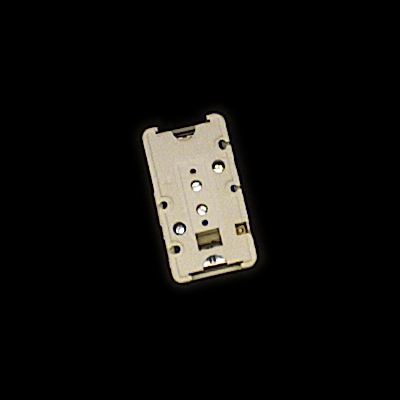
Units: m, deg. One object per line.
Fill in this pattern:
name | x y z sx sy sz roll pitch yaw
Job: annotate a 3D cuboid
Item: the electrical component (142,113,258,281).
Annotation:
electrical component | 0.000 0.000 0.637 0.050 0.090 0.055 -13 -5 -1
